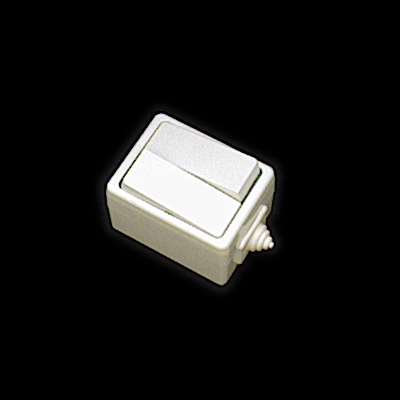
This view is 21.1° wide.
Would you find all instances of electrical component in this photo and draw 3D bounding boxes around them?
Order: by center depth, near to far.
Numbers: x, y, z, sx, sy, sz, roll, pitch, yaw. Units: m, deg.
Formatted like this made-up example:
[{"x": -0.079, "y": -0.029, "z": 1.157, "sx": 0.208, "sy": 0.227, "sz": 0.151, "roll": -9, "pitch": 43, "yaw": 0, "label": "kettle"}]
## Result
[{"x": 0.000, "y": 0.000, "z": 0.626, "sx": 0.096, "sy": 0.062, "sz": 0.061, "roll": 28, "pitch": -24, "yaw": 14, "label": "electrical component"}]
